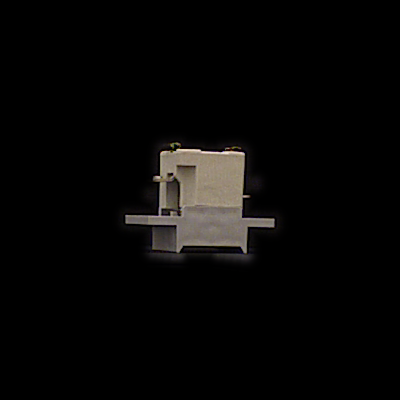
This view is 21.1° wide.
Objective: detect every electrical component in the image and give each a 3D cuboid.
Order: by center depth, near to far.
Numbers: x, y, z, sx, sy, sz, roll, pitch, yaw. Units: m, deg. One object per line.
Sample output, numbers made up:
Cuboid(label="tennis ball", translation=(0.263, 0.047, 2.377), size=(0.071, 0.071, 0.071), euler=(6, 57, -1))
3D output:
Cuboid(label="electrical component", translation=(0.000, 0.000, 0.650), size=(0.081, 0.064, 0.042), euler=(1, 1, -24))
